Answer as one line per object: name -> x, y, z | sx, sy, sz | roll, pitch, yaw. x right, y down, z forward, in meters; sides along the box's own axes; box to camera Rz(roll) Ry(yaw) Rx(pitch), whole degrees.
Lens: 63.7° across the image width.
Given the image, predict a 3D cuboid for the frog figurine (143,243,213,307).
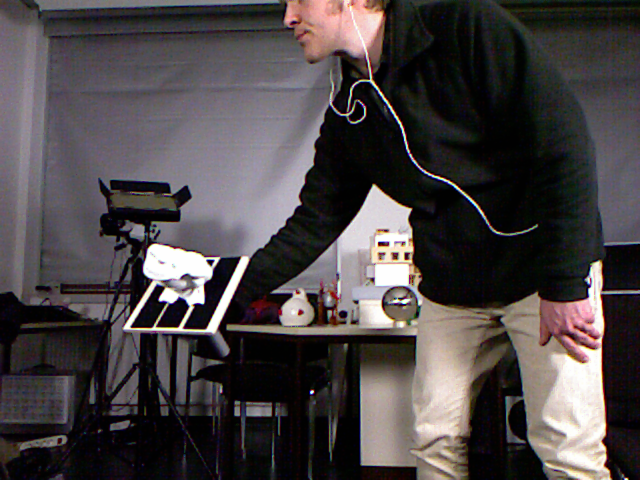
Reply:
frog figurine -> -0.291, 0.051, 1.020 | 0.139, 0.156, 0.125 | 17, 51, 34
